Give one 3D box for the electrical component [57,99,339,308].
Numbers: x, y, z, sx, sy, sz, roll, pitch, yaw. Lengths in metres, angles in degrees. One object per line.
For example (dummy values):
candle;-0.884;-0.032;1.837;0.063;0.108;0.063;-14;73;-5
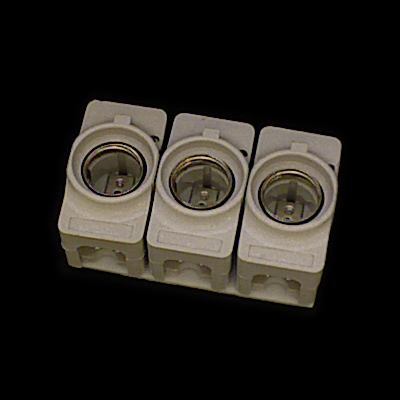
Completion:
electrical component;0.000;0.000;0.632;0.150;0.089;0.062;9;-28;4
